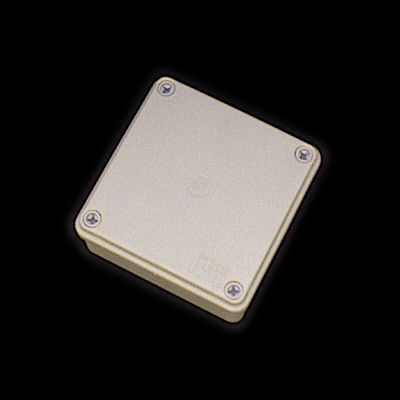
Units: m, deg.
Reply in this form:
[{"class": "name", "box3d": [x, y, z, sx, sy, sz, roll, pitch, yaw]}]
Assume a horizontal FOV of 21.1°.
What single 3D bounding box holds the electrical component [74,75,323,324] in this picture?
[{"class": "electrical component", "box3d": [0.000, 0.000, 0.630, 0.109, 0.109, 0.056, 26, -16, 7]}]
